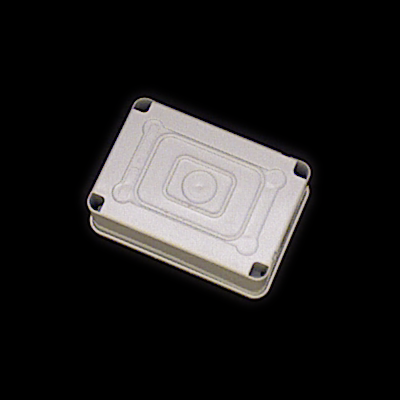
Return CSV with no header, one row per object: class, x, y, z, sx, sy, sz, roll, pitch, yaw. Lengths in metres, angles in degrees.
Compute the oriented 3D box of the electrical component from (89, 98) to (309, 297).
electrical component,0.000,0.000,0.628,0.113,0.078,0.057,23,-15,7
